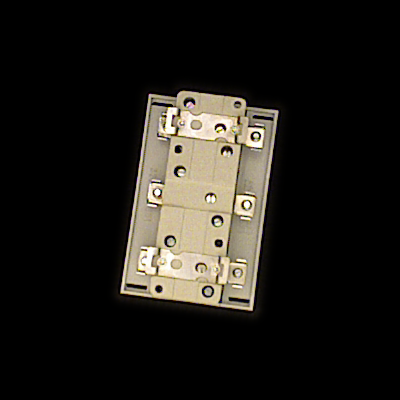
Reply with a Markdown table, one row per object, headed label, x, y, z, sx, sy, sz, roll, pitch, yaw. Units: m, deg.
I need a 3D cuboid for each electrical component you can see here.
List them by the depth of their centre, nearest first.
| label | x | y | z | sx | sy | sz | roll | pitch | yaw |
| --- | --- | --- | --- | --- | --- | --- | --- | --- | --- |
| electrical component | 0.000 | 0.000 | 0.634 | 0.079 | 0.122 | 0.063 | 7 | -6 | 2 |
